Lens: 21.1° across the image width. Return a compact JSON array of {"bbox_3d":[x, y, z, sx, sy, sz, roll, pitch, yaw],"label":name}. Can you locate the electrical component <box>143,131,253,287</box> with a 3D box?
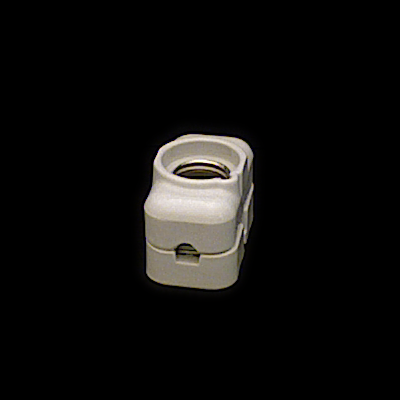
[{"bbox_3d":[0.000,0.000,0.641,0.053,0.060,0.094,5,33,8],"label":"electrical component"}]
